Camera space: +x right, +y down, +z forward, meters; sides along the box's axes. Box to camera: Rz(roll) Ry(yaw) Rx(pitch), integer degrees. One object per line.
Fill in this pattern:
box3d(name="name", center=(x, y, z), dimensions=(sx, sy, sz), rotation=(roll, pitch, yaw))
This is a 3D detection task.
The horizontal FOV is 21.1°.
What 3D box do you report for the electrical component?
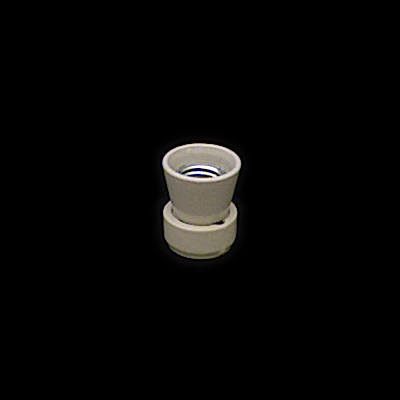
box3d(name="electrical component", center=(0.000, 0.000, 0.637), dimensions=(0.045, 0.056, 0.044), rotation=(1, 31, -1))
